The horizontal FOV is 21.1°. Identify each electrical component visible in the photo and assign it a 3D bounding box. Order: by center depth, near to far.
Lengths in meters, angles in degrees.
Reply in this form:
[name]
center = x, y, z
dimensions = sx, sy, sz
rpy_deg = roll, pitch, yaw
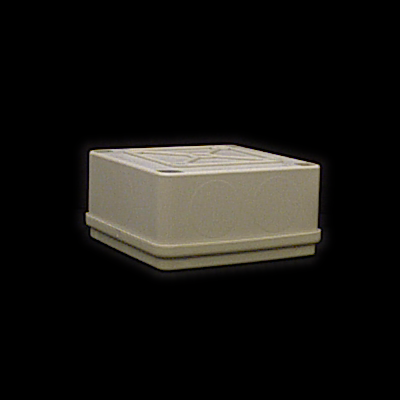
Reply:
[electrical component]
center = 0.000, 0.000, 0.645
dimensions = 0.109, 0.056, 0.108
rpy_deg = -4, 12, -29
